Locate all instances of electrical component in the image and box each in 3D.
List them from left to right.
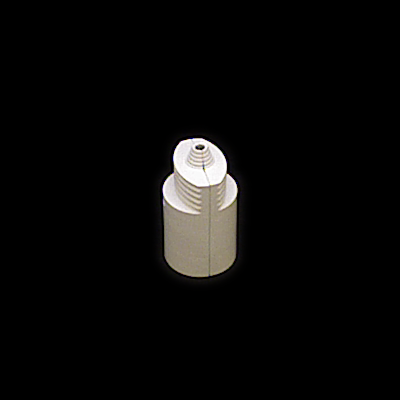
[{"bbox_3d":[0.000,0.000,0.624,0.043,0.082,0.042,0,41,0],"label":"electrical component"}]
